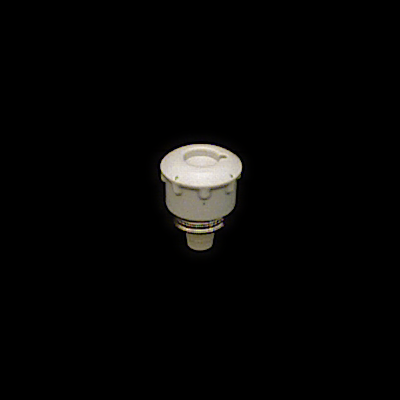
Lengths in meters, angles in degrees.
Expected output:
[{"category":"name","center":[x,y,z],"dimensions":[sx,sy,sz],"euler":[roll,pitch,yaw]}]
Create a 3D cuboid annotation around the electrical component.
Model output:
[{"category":"electrical component","center":[0.000,0.000,0.643],"dimensions":[0.048,0.063,0.047],"euler":[1,32,0]}]
